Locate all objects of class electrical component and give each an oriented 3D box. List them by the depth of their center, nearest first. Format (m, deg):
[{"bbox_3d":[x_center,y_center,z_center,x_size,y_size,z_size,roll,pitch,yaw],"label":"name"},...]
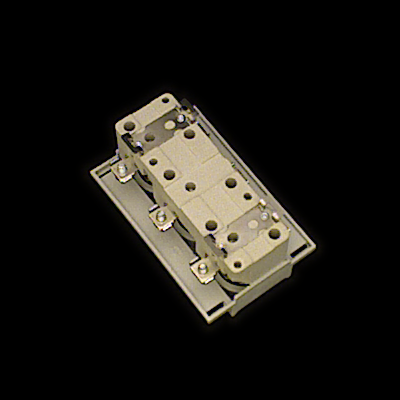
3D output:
[{"bbox_3d":[0.000,0.000,0.635,0.079,0.121,0.063,-34,-22,-16],"label":"electrical component"}]
